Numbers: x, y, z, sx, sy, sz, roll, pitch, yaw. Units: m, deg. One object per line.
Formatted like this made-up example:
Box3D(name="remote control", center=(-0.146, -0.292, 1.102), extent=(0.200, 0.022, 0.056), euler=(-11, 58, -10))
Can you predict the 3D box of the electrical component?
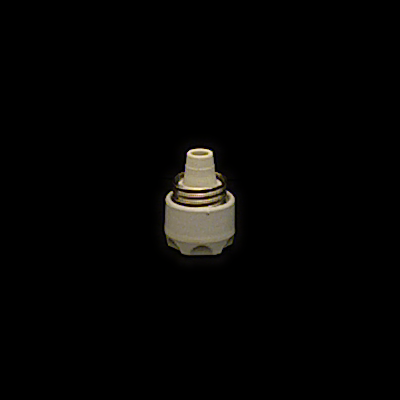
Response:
Box3D(name="electrical component", center=(0.000, 0.000, 0.645), extent=(0.043, 0.063, 0.043), euler=(0, 23, 0))
